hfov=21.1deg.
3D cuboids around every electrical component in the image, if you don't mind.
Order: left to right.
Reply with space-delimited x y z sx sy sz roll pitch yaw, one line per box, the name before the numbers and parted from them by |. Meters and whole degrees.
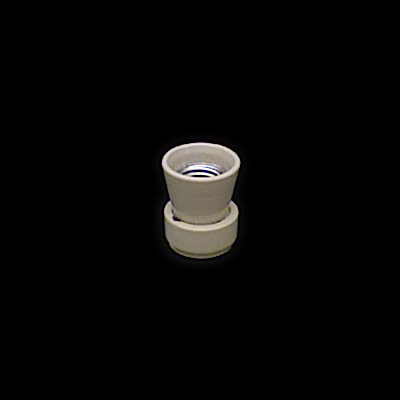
electrical component | 0.000 0.000 0.635 0.045 0.056 0.044 1 31 0
